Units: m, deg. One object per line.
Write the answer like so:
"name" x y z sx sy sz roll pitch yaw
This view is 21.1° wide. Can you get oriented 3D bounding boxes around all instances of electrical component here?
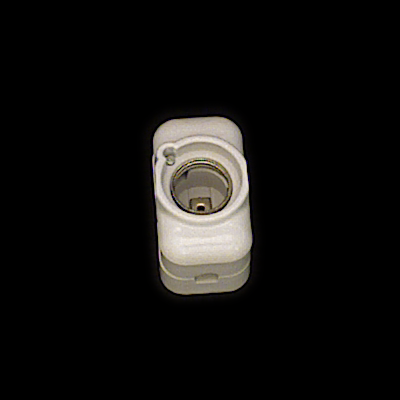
"electrical component" 0.000 0.000 0.634 0.054 0.095 0.059 -4 -27 -2
